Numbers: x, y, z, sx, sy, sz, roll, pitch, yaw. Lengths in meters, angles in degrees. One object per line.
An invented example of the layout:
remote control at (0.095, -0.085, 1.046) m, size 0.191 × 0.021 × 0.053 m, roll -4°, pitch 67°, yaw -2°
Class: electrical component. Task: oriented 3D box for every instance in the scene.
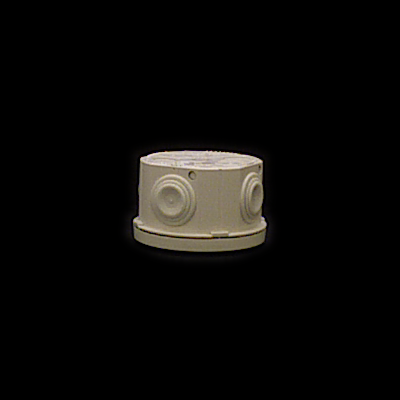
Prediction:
electrical component at (0.000, 0.000, 0.644) m, size 0.080 × 0.051 × 0.079 m, roll 2°, pitch 11°, yaw 0°
